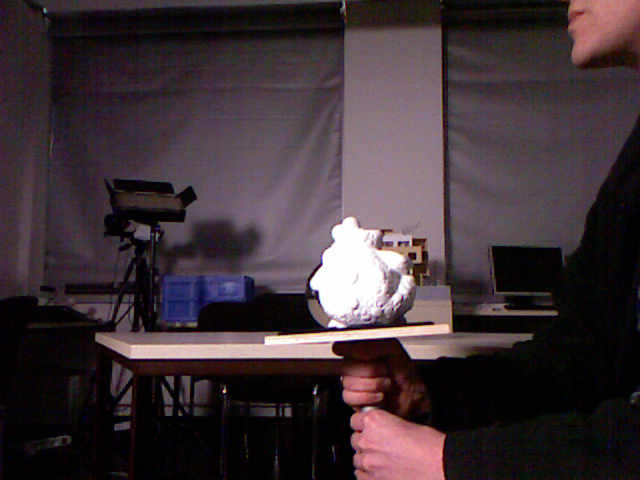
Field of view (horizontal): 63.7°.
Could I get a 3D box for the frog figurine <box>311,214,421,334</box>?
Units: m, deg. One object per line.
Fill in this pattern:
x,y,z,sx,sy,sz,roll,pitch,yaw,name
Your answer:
0.057,0.041,0.671,0.137,0.161,0.122,-9,-8,22,frog figurine
